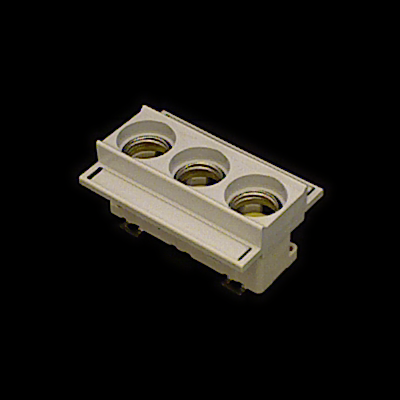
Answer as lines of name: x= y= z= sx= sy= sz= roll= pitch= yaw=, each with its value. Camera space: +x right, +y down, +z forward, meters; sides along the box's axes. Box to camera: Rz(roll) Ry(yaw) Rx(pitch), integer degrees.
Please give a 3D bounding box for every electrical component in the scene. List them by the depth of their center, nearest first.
electrical component: x=0.000 y=0.000 z=0.641 sx=0.120 sy=0.063 sz=0.078 roll=28 pitch=51 yaw=27
